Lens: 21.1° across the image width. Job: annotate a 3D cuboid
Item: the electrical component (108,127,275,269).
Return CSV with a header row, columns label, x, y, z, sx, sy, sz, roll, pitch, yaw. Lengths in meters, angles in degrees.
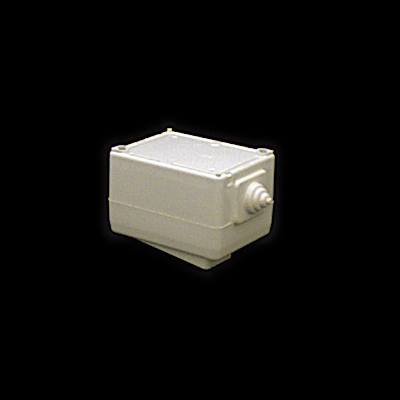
label,x,y,z,sx,sy,sz,roll,pitch,yaw
electrical component,0.000,0.000,0.637,0.096,0.061,0.061,14,24,32
